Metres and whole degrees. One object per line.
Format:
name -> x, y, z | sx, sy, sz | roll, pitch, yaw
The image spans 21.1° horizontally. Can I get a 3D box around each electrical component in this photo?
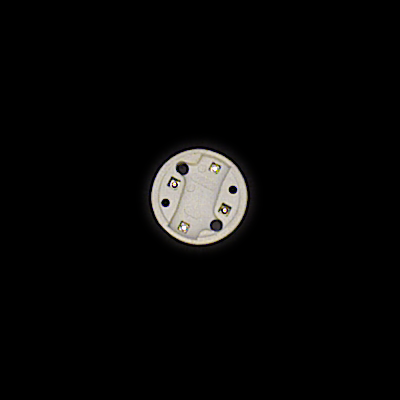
electrical component -> 0.000, 0.000, 0.636 | 0.055, 0.055, 0.047 | 0, -6, 0
